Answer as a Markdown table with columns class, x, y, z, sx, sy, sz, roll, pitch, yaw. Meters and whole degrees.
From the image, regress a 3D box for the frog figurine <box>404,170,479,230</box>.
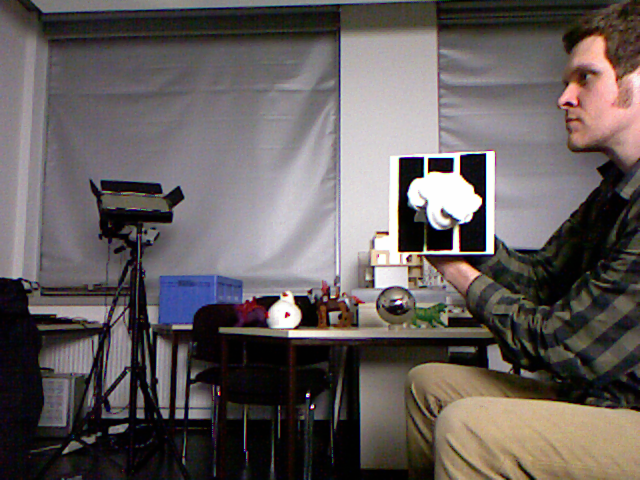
| class | x | y | z | sx | sy | sz | roll | pitch | yaw |
| --- | --- | --- | --- | --- | --- | --- | --- | --- | --- |
| frog figurine | 0.231 | -0.080 | 0.980 | 0.138 | 0.123 | 0.159 | 20 | -1 | 8 |
